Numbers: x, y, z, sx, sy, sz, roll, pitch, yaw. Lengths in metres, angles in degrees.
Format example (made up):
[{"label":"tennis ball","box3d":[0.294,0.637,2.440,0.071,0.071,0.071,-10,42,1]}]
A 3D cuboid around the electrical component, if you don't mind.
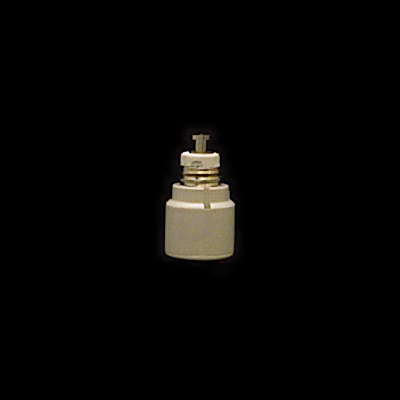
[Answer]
[{"label":"electrical component","box3d":[0.000,0.000,0.640,0.040,0.079,0.040,0,10,0]}]
